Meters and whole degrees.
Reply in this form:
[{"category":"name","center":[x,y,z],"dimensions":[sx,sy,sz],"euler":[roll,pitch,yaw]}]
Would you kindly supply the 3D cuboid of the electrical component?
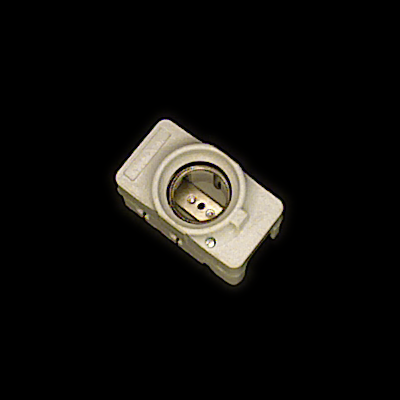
[{"category":"electrical component","center":[0.000,0.000,0.636],"dimensions":[0.089,0.050,0.055],"euler":[36,-13,10]}]
